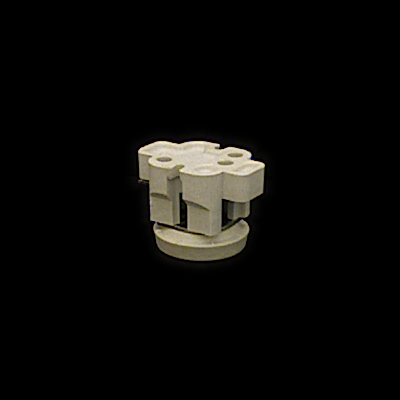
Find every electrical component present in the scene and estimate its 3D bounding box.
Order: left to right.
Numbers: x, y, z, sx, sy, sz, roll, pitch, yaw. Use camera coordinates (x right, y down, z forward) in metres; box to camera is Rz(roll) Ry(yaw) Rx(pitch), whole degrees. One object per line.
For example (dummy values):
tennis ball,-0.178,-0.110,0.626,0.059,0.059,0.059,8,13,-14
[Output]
electrical component,0.000,0.000,0.646,0.077,0.057,0.058,13,25,30
